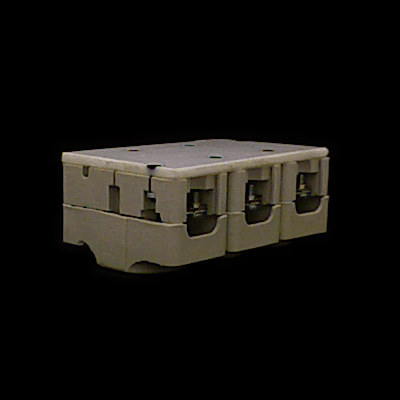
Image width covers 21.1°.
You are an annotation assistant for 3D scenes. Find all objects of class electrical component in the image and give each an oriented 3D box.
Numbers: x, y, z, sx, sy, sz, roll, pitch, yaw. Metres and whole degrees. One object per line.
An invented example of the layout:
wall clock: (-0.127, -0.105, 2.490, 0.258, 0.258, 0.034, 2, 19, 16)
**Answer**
electrical component: (0.000, 0.000, 0.654, 0.089, 0.062, 0.149, 10, 13, 39)
